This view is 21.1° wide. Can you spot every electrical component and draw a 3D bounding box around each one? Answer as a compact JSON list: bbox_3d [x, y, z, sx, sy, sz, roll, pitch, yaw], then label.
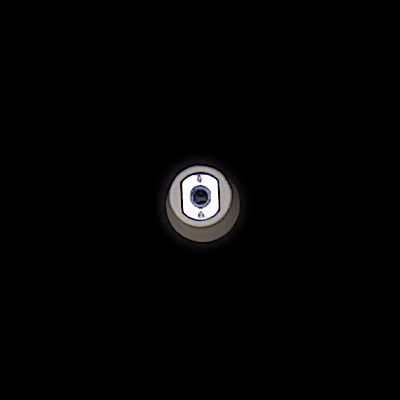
[{"bbox_3d":[0.000,0.000,0.626,0.044,0.044,0.065,0,-6,2],"label":"electrical component"}]
